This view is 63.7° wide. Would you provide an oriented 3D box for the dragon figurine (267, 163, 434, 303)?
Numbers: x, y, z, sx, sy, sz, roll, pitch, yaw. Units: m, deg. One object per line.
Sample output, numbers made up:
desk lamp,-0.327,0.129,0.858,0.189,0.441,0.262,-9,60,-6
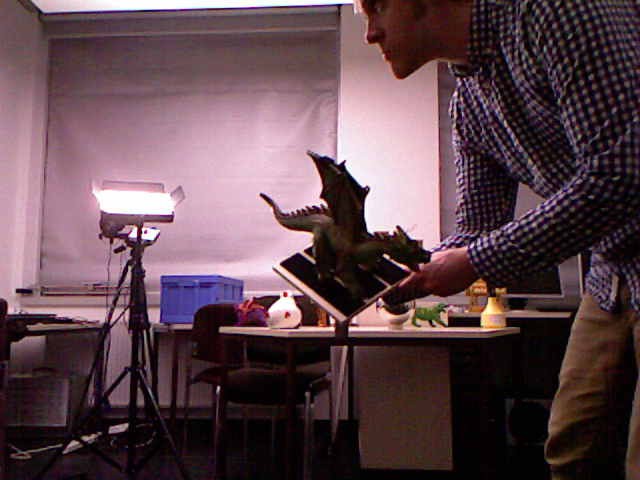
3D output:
dragon figurine,0.025,-0.042,0.944,0.415,0.237,0.124,33,51,30
